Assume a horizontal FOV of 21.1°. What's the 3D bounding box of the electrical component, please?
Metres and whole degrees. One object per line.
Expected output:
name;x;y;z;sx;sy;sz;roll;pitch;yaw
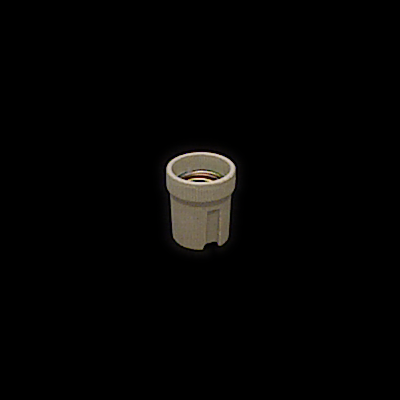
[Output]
electrical component;0.000;0.000;0.638;0.040;0.047;0.039;1;31;0
